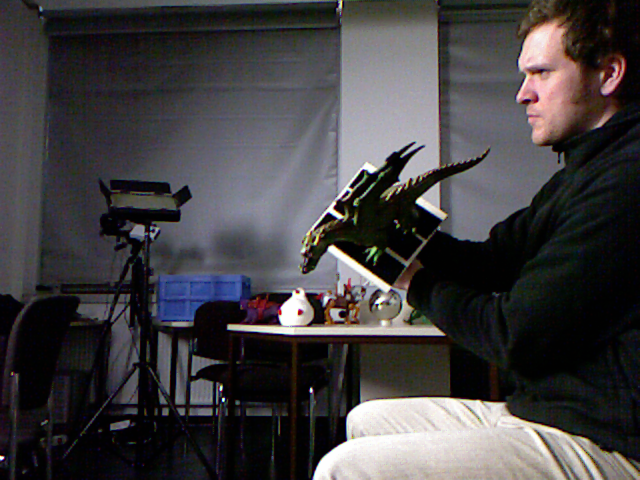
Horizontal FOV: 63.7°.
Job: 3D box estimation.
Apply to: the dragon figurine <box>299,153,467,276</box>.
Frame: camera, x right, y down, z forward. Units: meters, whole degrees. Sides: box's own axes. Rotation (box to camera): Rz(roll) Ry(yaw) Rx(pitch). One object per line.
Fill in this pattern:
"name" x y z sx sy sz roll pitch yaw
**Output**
"dragon figurine" 0.121 -0.073 0.923 0.414 0.124 0.240 -39 -15 -8
